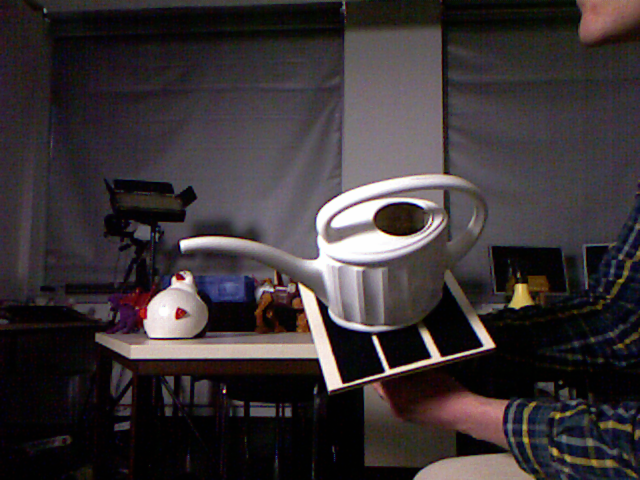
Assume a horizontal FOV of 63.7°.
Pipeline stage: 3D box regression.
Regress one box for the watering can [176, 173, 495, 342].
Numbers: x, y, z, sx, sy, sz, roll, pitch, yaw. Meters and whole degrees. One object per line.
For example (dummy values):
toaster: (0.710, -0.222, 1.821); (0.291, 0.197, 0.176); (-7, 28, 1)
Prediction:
watering can: (0.032, 0.027, 0.602); (0.351, 0.221, 0.107); (-12, 43, -5)
